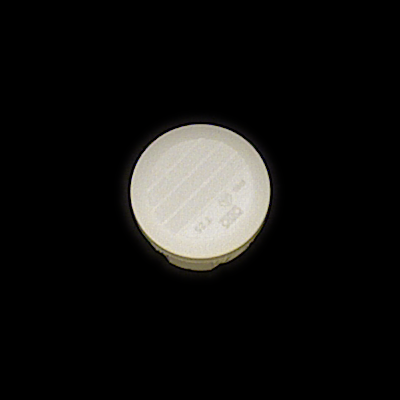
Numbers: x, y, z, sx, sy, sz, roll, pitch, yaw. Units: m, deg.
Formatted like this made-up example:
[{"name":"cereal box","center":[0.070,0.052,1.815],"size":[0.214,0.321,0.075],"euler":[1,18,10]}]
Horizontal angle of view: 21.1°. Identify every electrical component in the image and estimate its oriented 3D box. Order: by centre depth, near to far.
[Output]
[{"name":"electrical component","center":[0.000,0.000,0.629],"size":[0.080,0.080,0.050],"euler":[0,-17,0]}]
